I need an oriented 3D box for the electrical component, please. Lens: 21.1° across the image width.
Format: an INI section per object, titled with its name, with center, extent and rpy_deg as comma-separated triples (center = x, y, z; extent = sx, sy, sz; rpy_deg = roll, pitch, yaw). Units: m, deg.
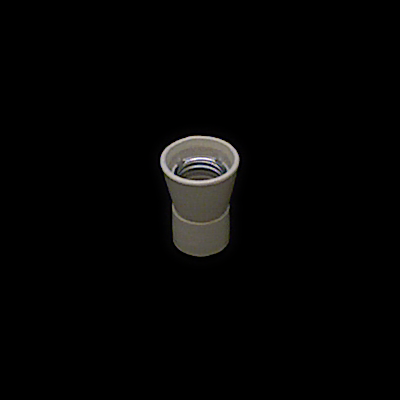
[electrical component]
center = 0.000, 0.000, 0.630
extent = 0.044, 0.066, 0.044
rpy_deg = 0, 42, 0
